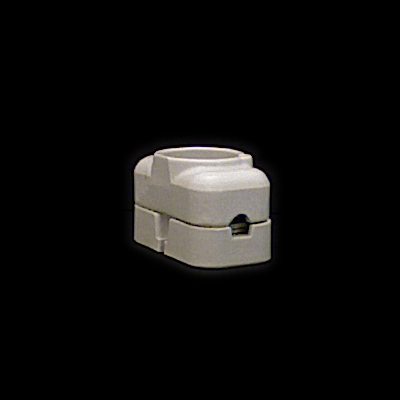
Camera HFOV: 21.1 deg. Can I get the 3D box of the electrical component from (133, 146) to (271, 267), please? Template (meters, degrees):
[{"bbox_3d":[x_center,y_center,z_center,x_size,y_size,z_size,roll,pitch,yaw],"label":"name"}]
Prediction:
[{"bbox_3d":[0.000,0.000,0.652,0.054,0.060,0.094,-6,14,-30],"label":"electrical component"}]
